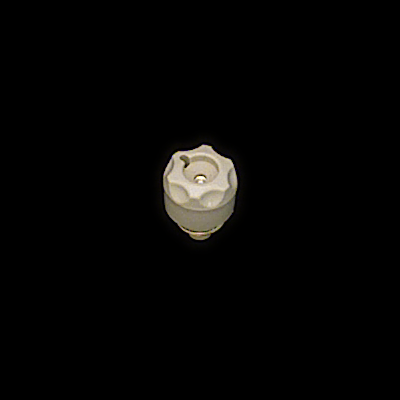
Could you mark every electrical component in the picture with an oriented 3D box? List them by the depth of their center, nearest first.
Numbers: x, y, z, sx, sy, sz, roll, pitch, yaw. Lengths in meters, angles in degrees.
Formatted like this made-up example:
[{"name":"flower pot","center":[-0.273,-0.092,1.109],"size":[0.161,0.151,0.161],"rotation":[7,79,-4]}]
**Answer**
[{"name":"electrical component","center":[0.000,0.000,0.635],"size":[0.043,0.043,0.062],"rotation":[0,-37,-1]}]
